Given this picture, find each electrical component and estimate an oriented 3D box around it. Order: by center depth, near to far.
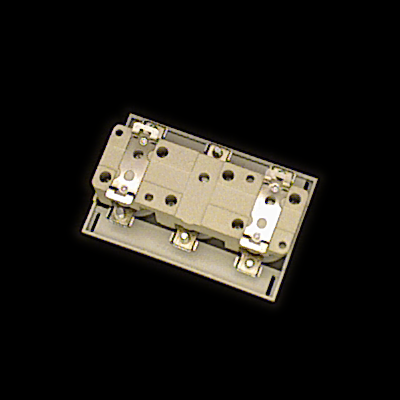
[{"bbox_3d":[0.000,0.000,0.633,0.121,0.079,0.062,19,-14,6],"label":"electrical component"}]
